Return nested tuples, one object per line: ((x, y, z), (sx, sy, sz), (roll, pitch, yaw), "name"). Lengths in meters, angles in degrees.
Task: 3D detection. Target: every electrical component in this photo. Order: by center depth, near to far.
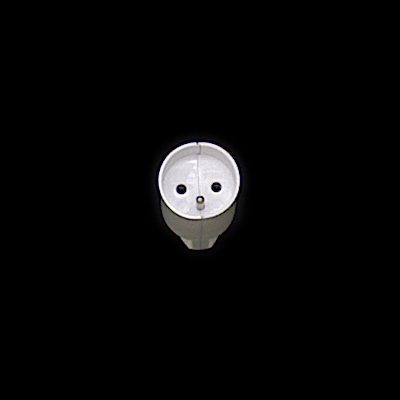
((0.000, 0.000, 0.615), (0.043, 0.043, 0.080), (0, -16, 0), "electrical component")
